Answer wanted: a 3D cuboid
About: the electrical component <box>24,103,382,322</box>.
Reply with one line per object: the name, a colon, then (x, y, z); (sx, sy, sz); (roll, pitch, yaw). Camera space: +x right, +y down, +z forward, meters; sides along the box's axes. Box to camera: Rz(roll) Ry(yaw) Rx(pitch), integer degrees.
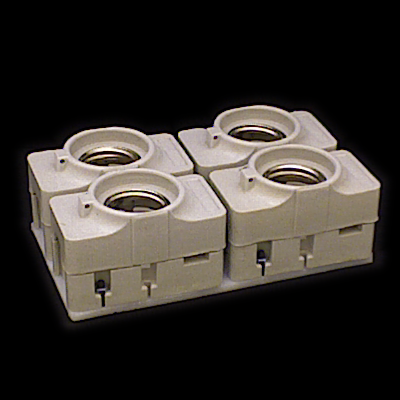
electrical component: (0.000, 0.000, 0.632); (0.186, 0.061, 0.104); (-10, 33, -17)
